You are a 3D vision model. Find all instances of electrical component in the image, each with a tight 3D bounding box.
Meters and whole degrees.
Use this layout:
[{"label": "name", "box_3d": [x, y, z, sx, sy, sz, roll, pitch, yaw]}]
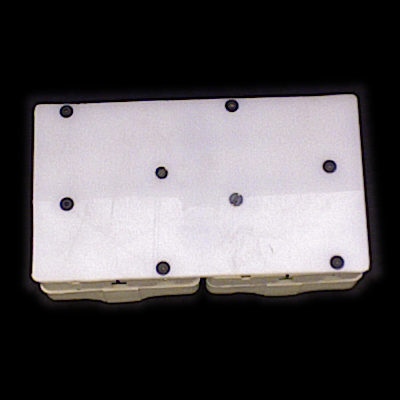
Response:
[{"label": "electrical component", "box_3d": [0.000, 0.000, 0.625, 0.186, 0.106, 0.060, -2, -17, -1]}]
